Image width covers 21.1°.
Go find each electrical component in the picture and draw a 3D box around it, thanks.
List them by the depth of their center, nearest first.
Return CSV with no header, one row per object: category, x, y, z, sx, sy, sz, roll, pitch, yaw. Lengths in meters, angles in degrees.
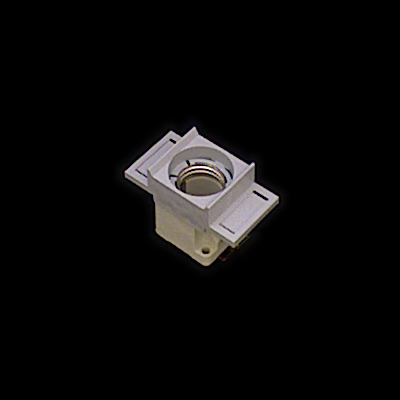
electrical component,0.000,0.000,0.625,0.080,0.064,0.042,33,58,23
